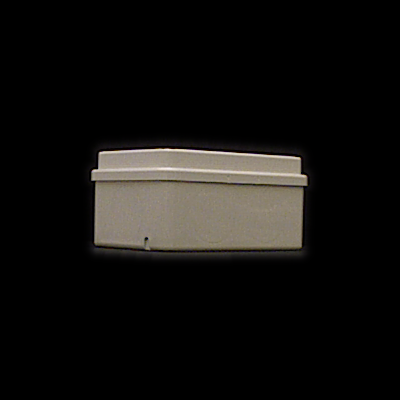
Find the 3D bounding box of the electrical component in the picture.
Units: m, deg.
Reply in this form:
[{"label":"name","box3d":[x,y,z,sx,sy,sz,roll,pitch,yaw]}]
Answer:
[{"label":"electrical component","box3d":[0.000,0.000,0.651,0.114,0.057,0.078,1,0,-39]}]
